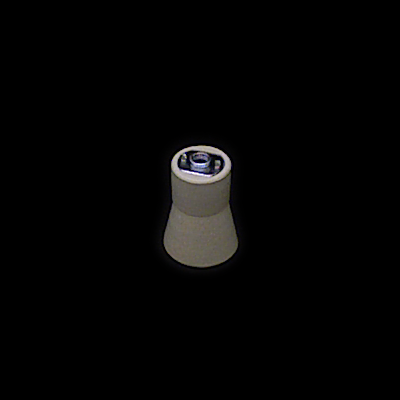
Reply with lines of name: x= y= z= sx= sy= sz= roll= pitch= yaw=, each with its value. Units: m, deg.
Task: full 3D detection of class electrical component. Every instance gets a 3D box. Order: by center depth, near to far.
electrical component: x=0.000 y=0.000 z=0.630 sx=0.044 sy=0.066 sz=0.044 roll=0 pitch=41 yaw=0
